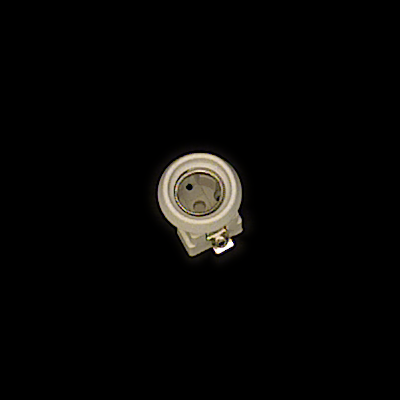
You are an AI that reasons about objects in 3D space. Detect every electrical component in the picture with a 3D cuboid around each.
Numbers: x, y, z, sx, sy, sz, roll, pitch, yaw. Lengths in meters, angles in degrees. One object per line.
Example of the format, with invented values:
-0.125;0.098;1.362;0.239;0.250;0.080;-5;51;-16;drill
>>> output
0.000;0.000;0.637;0.048;0.066;0.055;-29;-14;-6;electrical component
